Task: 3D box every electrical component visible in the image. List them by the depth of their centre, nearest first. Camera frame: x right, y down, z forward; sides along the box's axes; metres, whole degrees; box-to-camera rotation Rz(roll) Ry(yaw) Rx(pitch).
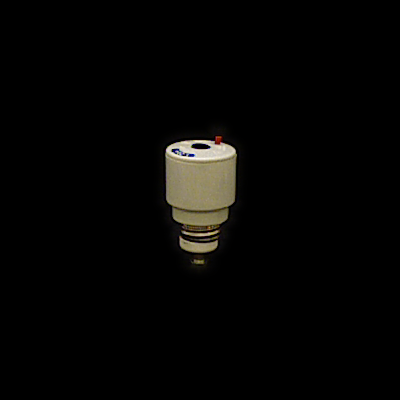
[{"bbox_3d":[0.000,0.000,0.636,0.040,0.079,0.039,1,21,0],"label":"electrical component"}]
